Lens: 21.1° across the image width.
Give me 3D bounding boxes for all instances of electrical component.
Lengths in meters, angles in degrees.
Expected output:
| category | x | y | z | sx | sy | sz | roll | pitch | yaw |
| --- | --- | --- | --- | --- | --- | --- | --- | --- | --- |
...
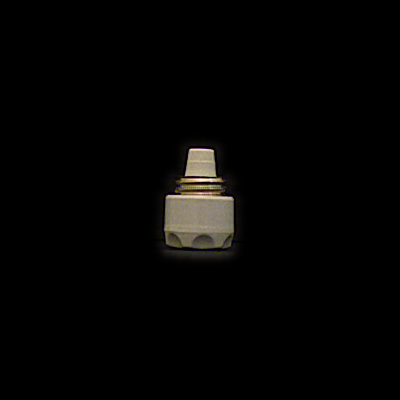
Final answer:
| category | x | y | z | sx | sy | sz | roll | pitch | yaw |
| --- | --- | --- | --- | --- | --- | --- | --- | --- | --- |
| electrical component | 0.000 | 0.000 | 0.657 | 0.043 | 0.062 | 0.043 | 2 | 1 | 0 |
